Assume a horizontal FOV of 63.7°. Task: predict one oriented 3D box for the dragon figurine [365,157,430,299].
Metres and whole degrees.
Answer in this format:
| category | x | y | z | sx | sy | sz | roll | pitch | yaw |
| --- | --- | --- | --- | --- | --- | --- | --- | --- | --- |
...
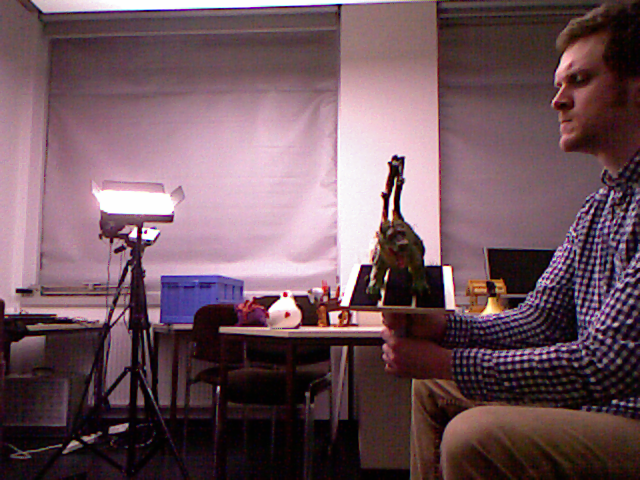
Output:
| category | x | y | z | sx | sy | sz | roll | pitch | yaw |
| --- | --- | --- | --- | --- | --- | --- | --- | --- | --- |
| dragon figurine | 0.155 | -0.040 | 0.976 | 0.122 | 0.238 | 0.419 | 3 | 27 | 7 |
